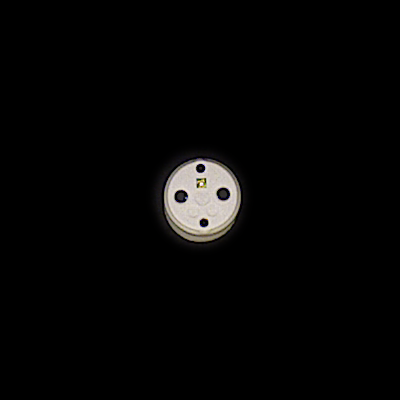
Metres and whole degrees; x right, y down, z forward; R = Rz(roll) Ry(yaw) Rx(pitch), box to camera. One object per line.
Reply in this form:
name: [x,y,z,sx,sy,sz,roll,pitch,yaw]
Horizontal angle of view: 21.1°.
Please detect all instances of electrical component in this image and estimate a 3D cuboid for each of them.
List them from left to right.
electrical component: [0.000,0.000,0.630,0.045,0.045,0.055,0,-6,0]
